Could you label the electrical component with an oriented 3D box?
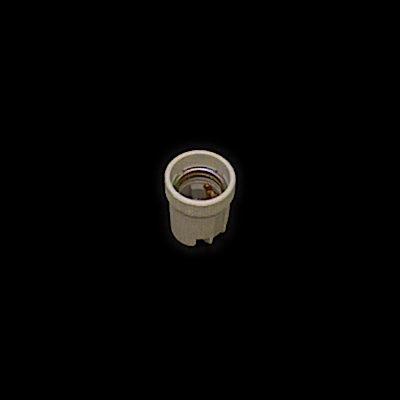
[{"bbox_3d":[0.000,0.000,0.629,0.040,0.040,0.046,0,-38,-1],"label":"electrical component"}]
